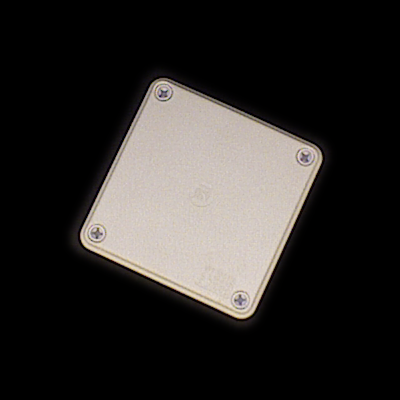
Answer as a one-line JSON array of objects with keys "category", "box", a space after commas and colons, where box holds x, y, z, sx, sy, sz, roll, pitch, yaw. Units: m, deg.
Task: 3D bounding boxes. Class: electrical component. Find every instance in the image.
[{"category": "electrical component", "box": [0.000, 0.000, 0.631, 0.109, 0.109, 0.056, 25, -6, 3]}]
